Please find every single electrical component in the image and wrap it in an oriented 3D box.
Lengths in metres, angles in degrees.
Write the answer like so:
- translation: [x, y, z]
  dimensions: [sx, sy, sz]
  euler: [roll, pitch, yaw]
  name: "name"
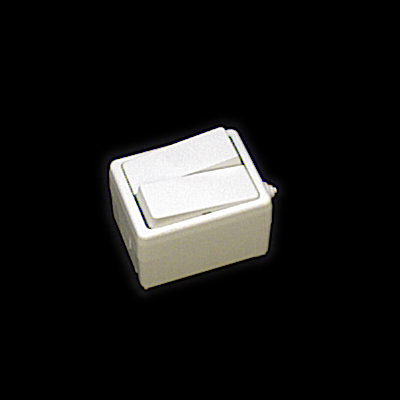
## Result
- translation: [0.000, 0.000, 0.629]
  dimensions: [0.096, 0.061, 0.061]
  euler: [-16, -36, -12]
  name: "electrical component"
